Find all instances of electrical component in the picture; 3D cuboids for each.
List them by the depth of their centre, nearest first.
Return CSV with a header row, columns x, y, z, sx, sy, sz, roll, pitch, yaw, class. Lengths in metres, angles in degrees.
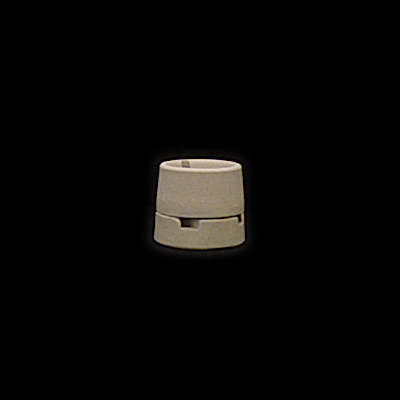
x,y,z,sx,sy,sz,roll,pitch,yaw,class
0.000,0.000,0.647,0.055,0.047,0.055,1,10,0,electrical component
